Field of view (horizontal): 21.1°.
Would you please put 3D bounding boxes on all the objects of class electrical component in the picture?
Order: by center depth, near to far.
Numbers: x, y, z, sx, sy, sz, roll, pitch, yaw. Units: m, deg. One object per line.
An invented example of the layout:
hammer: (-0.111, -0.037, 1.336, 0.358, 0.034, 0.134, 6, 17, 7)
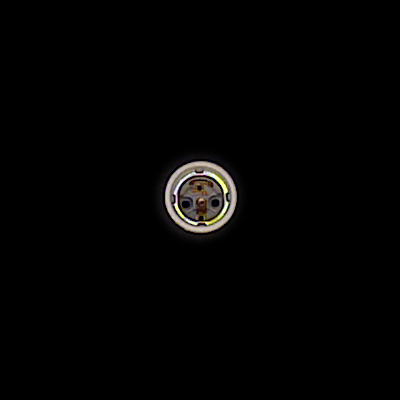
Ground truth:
electrical component: (0.000, 0.000, 0.627, 0.040, 0.040, 0.046, 0, -6, 0)
